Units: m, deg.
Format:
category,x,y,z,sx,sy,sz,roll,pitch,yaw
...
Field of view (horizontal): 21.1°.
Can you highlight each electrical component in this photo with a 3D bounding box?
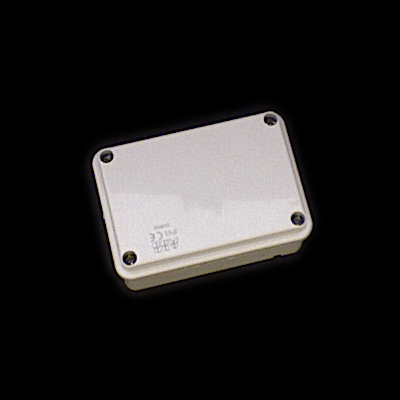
category,x,y,z,sx,sy,sz,roll,pitch,yaw
electrical component,0.000,0.000,0.626,0.113,0.078,0.057,-13,-16,-4
